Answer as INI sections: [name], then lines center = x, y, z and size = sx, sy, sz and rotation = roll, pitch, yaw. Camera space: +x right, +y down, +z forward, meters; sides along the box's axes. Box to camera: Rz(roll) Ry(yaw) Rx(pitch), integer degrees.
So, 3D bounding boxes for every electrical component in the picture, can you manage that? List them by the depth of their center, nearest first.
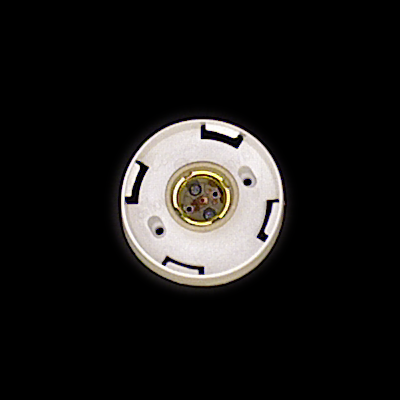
[electrical component]
center = 0.000, 0.000, 0.625
size = 0.099, 0.099, 0.064
rotation = 0, -7, 1
